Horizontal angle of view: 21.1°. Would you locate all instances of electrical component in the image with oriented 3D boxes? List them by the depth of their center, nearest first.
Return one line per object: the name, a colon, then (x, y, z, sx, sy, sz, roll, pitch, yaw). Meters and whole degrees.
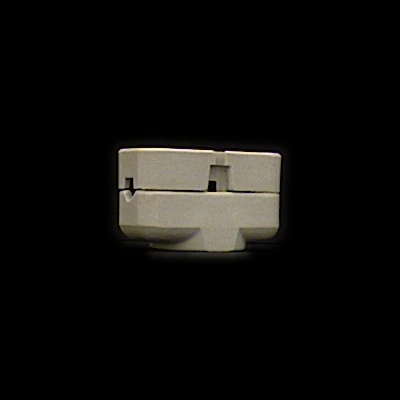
electrical component: (0.000, 0.000, 0.658, 0.096, 0.059, 0.053, 1, 2, -28)
